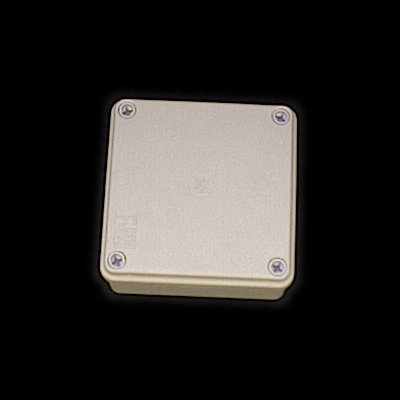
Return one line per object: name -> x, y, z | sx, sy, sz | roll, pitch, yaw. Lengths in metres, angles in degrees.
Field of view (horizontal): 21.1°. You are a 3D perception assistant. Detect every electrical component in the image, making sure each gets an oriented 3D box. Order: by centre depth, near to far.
electrical component -> 0.000, 0.000, 0.630 | 0.109, 0.109, 0.056 | 2, -17, 0
